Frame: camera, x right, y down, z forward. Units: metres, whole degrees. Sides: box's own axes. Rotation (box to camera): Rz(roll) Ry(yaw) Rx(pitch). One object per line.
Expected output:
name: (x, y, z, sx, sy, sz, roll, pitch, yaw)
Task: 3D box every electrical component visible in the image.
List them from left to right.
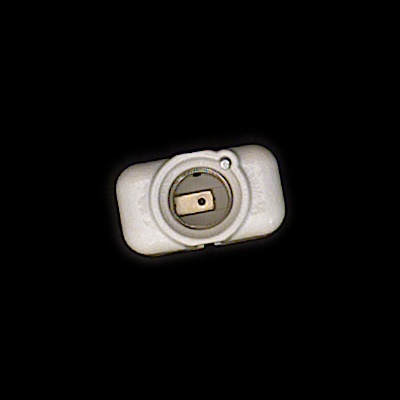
electrical component: (0.000, 0.000, 0.635, 0.095, 0.054, 0.059, -10, -5, -1)
